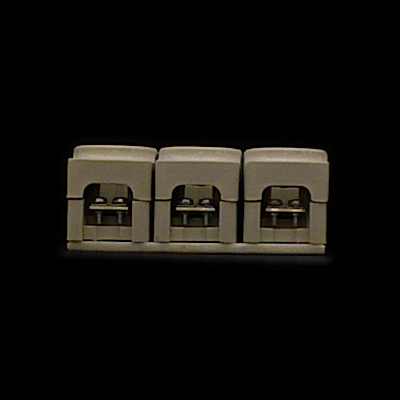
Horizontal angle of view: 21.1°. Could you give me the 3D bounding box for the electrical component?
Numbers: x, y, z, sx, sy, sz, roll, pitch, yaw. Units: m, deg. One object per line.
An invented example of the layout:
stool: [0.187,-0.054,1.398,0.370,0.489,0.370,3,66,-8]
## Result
electrical component: [0.000,0.000,0.658,0.150,0.062,0.089,2,-1,2]
